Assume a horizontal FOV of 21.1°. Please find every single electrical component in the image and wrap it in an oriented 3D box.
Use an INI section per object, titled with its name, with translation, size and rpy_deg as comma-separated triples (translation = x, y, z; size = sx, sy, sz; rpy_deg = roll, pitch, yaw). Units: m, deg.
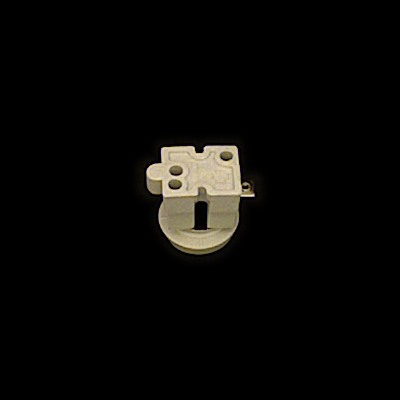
[electrical component]
translation = 0.000, 0.000, 0.638
size = 0.066, 0.048, 0.055
rpy_deg = -2, -38, -3
